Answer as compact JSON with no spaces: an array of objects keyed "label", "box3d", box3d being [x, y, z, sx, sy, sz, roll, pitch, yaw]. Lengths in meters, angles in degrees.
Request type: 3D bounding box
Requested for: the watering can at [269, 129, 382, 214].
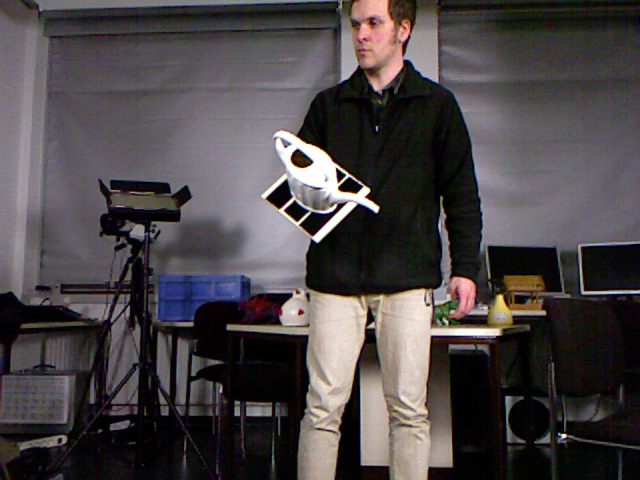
[{"label":"watering can","box3d":[0.005,-0.134,1.246,0.351,0.105,0.220,41,-17,20]}]
